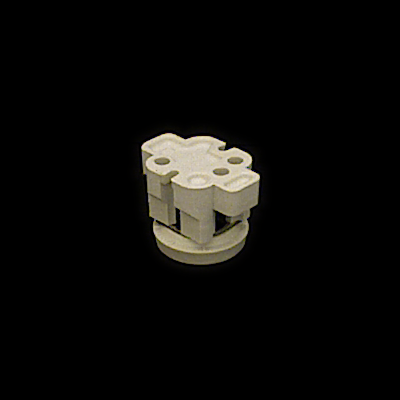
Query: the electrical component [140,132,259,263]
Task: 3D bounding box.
[{"bbox_3d":[0.000,0.000,0.642,0.077,0.057,0.058,26,41,36],"label":"electrical component"}]
